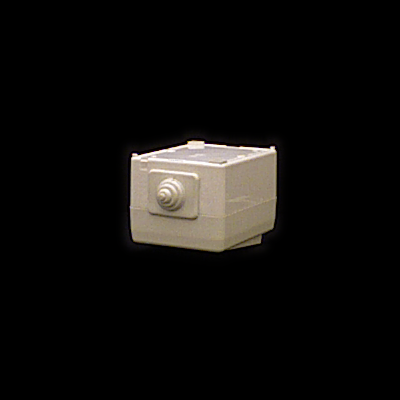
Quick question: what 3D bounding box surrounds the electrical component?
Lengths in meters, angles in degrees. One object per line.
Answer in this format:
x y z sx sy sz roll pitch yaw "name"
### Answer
0.000 0.000 0.644 0.061 0.061 0.096 6 12 26 "electrical component"
